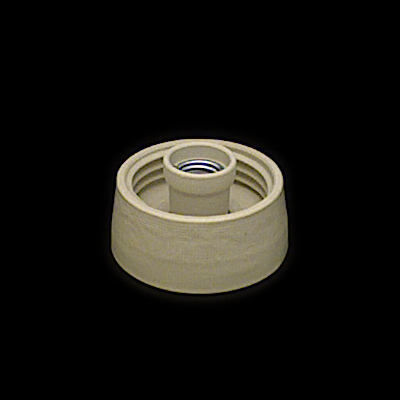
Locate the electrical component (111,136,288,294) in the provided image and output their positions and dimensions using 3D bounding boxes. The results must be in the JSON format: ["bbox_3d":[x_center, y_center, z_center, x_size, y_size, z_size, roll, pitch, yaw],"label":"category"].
[{"bbox_3d":[0.000,0.000,0.640,0.108,0.061,0.106,1,32,0],"label":"electrical component"}]
